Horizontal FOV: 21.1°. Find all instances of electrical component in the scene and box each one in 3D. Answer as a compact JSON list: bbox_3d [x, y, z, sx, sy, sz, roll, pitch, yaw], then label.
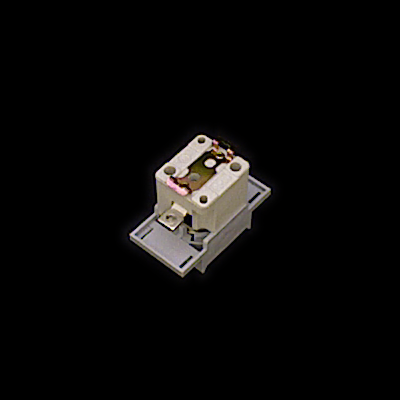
[{"bbox_3d":[0.000,0.000,0.628,0.042,0.064,0.081,34,60,23],"label":"electrical component"}]
